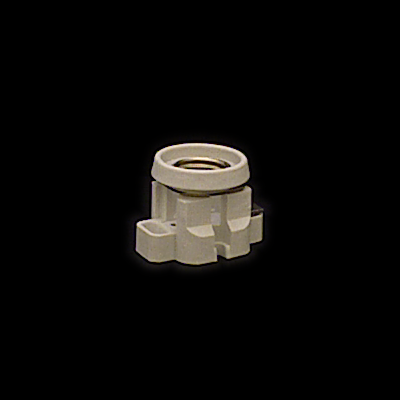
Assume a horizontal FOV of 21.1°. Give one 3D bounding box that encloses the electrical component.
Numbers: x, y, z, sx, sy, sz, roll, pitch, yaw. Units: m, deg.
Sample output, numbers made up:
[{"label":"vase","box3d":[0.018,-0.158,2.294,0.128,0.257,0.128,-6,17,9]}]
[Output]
[{"label":"electrical component","box3d":[0.000,0.000,0.641,0.078,0.057,0.057,-11,24,-28]}]
